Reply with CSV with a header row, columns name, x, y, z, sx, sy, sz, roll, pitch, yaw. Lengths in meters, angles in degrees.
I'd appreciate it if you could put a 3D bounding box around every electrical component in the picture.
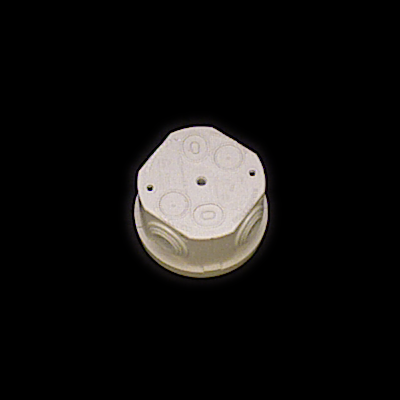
name,x,y,z,sx,sy,sz,roll,pitch,yaw
electrical component,0.000,0.000,0.632,0.080,0.080,0.050,0,-27,-1
